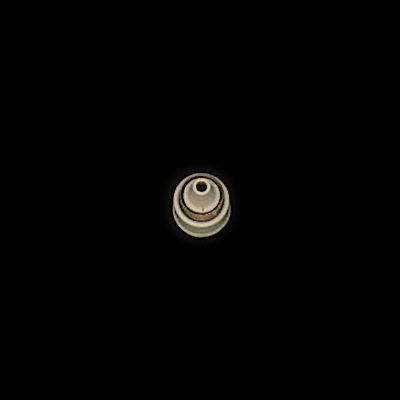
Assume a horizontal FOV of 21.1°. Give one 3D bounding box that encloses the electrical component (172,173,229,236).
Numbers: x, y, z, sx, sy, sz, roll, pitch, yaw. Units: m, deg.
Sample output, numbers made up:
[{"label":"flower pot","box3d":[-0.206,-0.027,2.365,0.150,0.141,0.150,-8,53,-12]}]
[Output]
[{"label":"electrical component","box3d":[0.000,0.000,0.637,0.035,0.035,0.061,0,-15,0]}]
